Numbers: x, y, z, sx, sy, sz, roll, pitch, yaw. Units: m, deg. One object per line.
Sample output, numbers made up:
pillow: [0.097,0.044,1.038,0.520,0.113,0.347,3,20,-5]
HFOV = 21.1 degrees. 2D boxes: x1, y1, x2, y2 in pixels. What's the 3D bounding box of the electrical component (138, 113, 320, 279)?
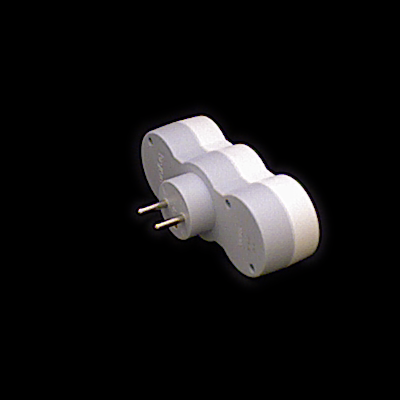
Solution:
electrical component: [0.000,0.000,0.635,0.073,0.053,0.137,-20,38,-27]
